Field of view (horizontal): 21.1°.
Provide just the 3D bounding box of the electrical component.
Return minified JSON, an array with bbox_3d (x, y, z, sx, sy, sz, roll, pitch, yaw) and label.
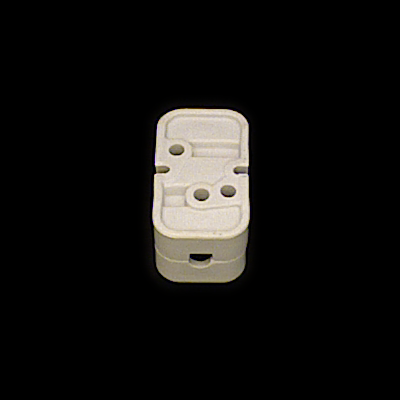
[{"bbox_3d":[0.000,0.000,0.637,0.054,0.094,0.059,1,-38,0],"label":"electrical component"}]
